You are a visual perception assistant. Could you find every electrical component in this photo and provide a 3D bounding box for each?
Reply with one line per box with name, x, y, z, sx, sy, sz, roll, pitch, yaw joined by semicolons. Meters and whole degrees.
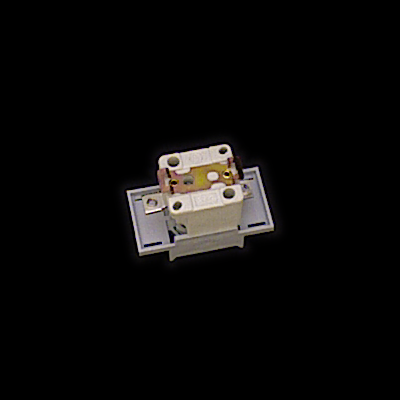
electrical component;0.000;0.000;0.626;0.081;0.042;0.063;-11;-27;-6
